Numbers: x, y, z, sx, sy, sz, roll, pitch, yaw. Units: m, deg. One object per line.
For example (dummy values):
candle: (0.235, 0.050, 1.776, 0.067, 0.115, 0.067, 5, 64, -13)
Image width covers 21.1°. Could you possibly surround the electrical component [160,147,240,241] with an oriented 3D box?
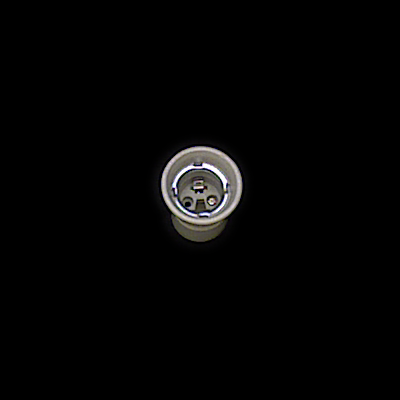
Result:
electrical component: (0.000, 0.000, 0.624, 0.044, 0.044, 0.065, 0, -17, -1)
